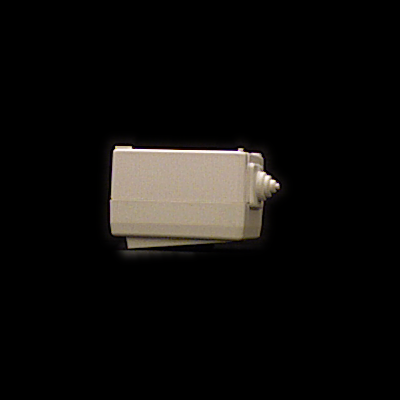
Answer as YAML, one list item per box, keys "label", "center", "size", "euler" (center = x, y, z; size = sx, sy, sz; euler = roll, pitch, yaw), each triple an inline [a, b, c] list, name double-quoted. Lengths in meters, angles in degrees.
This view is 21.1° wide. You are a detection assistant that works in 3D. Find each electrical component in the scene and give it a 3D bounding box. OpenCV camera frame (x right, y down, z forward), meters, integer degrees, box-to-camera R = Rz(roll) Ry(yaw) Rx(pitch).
- label: "electrical component"
  center: [0.000, 0.000, 0.647]
  size: [0.096, 0.061, 0.062]
  euler: [2, 1, 14]
